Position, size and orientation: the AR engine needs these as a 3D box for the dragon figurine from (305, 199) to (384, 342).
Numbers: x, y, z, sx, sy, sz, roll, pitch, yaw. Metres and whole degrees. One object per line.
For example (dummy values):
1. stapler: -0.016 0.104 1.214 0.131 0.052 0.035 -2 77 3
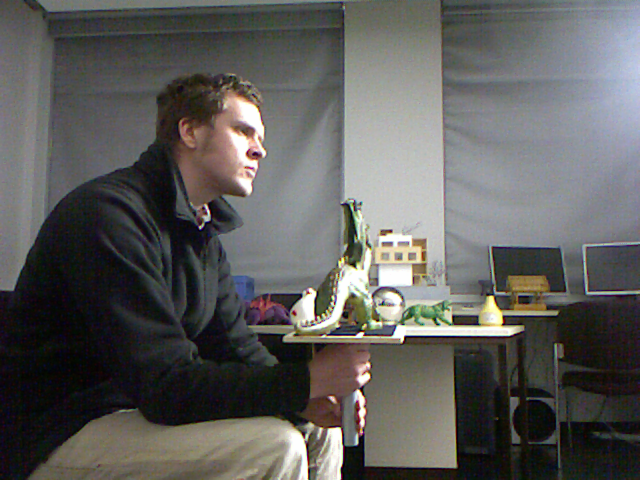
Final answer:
1. dragon figurine: 0.050 0.044 0.945 0.122 0.244 0.409 2 -3 14
